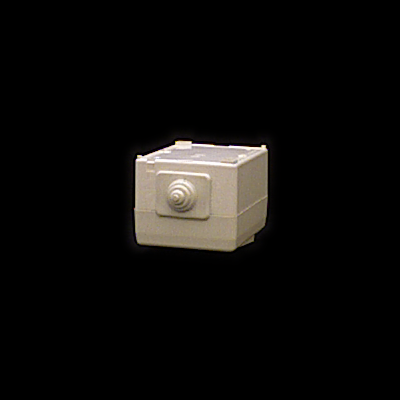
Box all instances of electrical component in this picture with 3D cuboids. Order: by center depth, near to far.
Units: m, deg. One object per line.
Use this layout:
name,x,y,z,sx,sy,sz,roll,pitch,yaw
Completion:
electrical component,0.000,0.000,0.644,0.061,0.061,0.096,4,11,16
